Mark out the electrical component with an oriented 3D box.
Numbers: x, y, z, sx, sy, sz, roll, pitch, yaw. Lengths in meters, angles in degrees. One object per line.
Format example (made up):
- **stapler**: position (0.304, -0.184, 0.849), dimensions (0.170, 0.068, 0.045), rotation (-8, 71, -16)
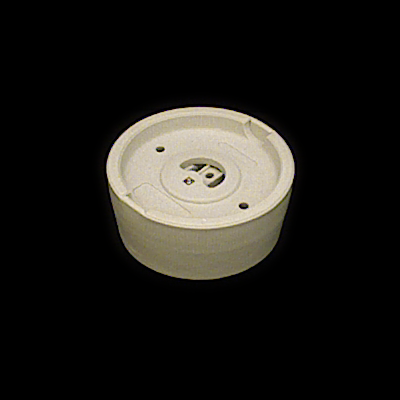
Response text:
- **electrical component**: position (0.000, 0.000, 0.635), dimensions (0.108, 0.061, 0.107), rotation (1, 42, 0)
